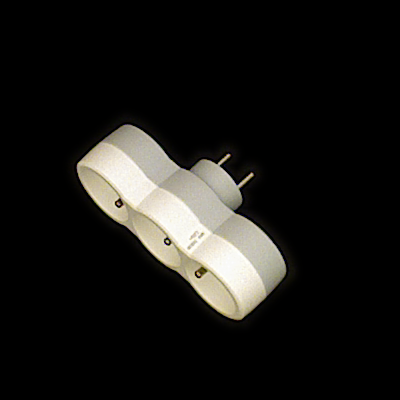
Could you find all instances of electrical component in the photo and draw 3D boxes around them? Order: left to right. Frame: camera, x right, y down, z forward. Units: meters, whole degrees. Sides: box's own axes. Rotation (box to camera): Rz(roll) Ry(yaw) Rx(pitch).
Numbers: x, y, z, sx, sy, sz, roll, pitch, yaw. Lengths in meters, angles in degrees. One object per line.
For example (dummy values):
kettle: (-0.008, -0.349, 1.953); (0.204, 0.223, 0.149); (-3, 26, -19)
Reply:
electrical component: (0.000, 0.000, 0.638); (0.137, 0.074, 0.052); (40, -22, 18)
